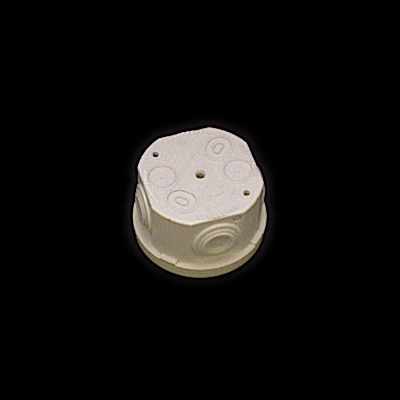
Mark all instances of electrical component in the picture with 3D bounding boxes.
[{"bbox_3d":[0.000,0.000,0.632,0.080,0.080,0.051,0,-37,-1],"label":"electrical component"}]
